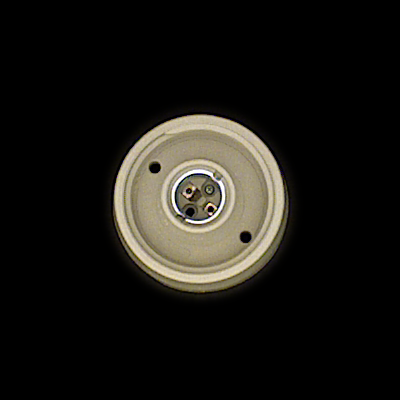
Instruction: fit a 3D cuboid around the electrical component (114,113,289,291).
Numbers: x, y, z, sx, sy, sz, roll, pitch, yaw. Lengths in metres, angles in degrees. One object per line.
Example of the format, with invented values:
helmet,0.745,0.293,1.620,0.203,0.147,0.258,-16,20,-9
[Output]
electrical component,0.000,0.000,0.635,0.108,0.108,0.060,0,-6,0
